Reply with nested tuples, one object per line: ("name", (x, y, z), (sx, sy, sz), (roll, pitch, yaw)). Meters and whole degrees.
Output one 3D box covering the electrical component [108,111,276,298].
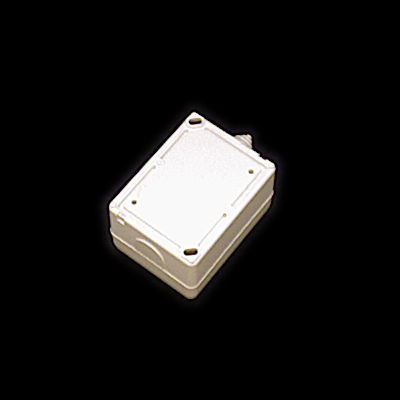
("electrical component", (0.000, 0.000, 0.627), (0.062, 0.096, 0.061), (34, -23, 16))
